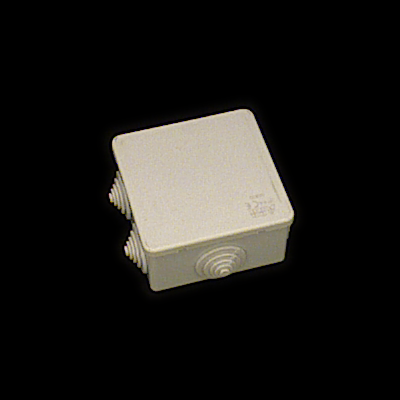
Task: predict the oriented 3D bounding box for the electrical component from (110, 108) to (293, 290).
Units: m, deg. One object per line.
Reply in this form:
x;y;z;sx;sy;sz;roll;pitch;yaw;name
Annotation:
0.000;0.000;0.640;0.100;0.099;0.049;-12;-36;-10;electrical component
